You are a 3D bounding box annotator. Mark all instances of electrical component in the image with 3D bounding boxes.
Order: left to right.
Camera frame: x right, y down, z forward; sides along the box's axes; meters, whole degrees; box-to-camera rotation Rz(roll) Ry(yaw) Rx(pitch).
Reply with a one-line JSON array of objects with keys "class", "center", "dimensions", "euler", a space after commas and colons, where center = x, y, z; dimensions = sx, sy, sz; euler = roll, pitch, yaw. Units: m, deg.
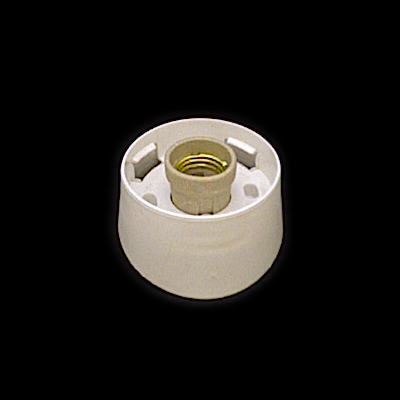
[{"class": "electrical component", "center": [0.000, 0.000, 0.630], "dimensions": [0.099, 0.065, 0.098], "euler": [1, 42, 0]}]
